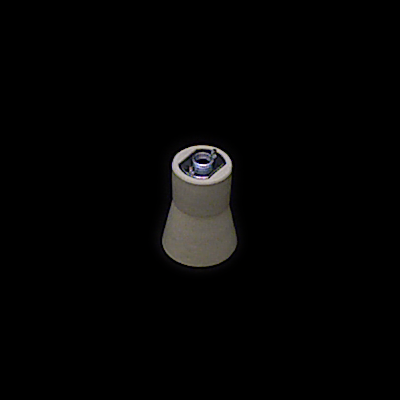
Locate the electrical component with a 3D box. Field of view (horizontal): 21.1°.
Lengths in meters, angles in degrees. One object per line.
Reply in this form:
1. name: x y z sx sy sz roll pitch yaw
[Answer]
1. electrical component: 0.000 0.000 0.628 0.044 0.066 0.044 1 42 -1
